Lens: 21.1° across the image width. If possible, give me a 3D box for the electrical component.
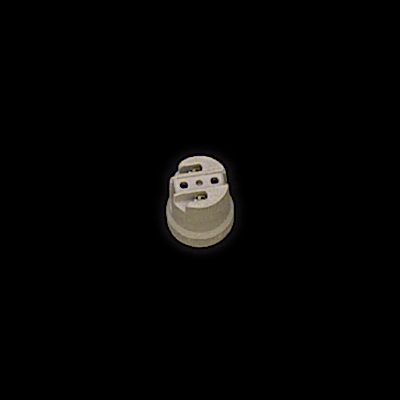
[{"bbox_3d":[0.000,0.000,0.633,0.040,0.040,0.046,0,-27,-1],"label":"electrical component"}]
